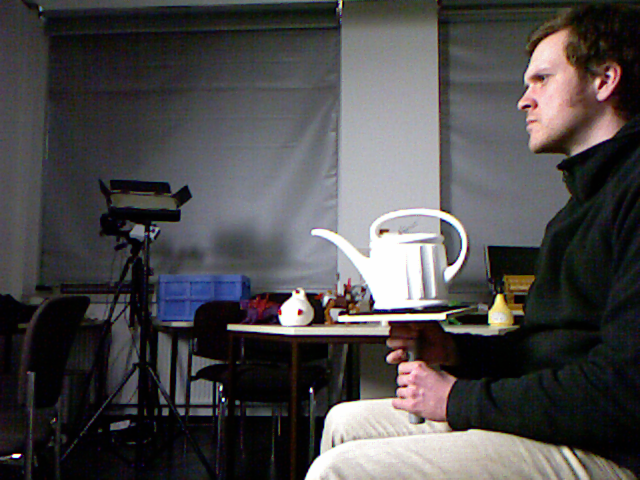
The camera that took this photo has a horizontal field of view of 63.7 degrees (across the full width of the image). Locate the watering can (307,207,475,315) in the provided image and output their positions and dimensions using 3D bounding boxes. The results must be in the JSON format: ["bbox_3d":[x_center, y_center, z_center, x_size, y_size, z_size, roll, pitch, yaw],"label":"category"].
[{"bbox_3d":[0.134,0.051,1.023,0.347,0.225,0.104,-5,-2,29],"label":"watering can"}]
